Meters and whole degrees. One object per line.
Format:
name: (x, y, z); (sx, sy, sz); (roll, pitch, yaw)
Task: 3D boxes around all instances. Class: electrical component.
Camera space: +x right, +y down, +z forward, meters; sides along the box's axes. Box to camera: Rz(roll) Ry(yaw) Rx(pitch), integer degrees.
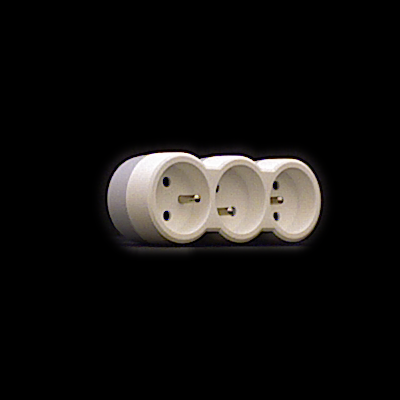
electrical component: (0.000, 0.000, 0.648); (0.139, 0.052, 0.073); (0, -1, -41)
